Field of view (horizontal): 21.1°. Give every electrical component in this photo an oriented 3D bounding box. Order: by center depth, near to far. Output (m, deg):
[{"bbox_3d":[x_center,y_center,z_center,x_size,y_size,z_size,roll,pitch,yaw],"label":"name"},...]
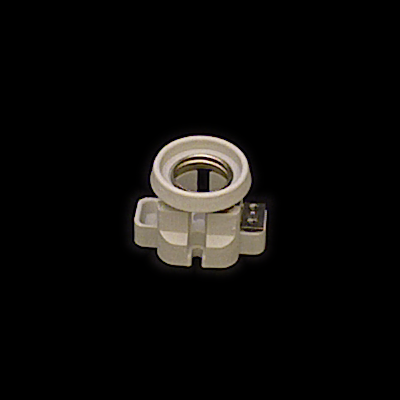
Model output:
[{"bbox_3d":[0.000,0.000,0.632,0.078,0.057,0.057,4,42,4],"label":"electrical component"}]
